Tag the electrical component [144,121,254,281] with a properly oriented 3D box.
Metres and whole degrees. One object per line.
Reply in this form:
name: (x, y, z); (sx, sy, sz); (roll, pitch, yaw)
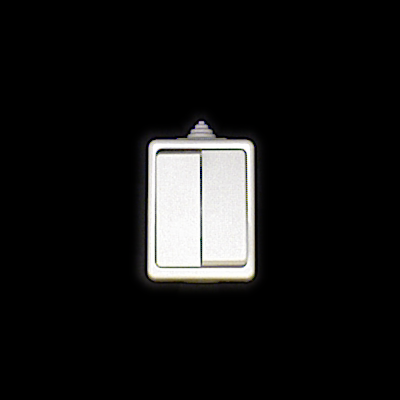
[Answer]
electrical component: (0.000, 0.000, 0.627); (0.062, 0.096, 0.061); (0, -7, 1)
